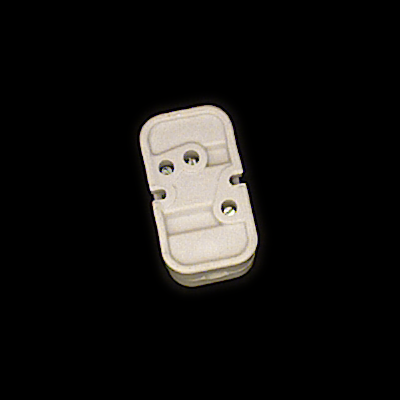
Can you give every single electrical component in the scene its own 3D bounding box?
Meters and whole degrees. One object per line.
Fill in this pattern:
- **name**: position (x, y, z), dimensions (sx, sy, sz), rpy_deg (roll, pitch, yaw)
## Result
- **electrical component**: position (0.000, 0.000, 0.635), dimensions (0.054, 0.095, 0.059), rpy_deg (-11, -15, -3)
